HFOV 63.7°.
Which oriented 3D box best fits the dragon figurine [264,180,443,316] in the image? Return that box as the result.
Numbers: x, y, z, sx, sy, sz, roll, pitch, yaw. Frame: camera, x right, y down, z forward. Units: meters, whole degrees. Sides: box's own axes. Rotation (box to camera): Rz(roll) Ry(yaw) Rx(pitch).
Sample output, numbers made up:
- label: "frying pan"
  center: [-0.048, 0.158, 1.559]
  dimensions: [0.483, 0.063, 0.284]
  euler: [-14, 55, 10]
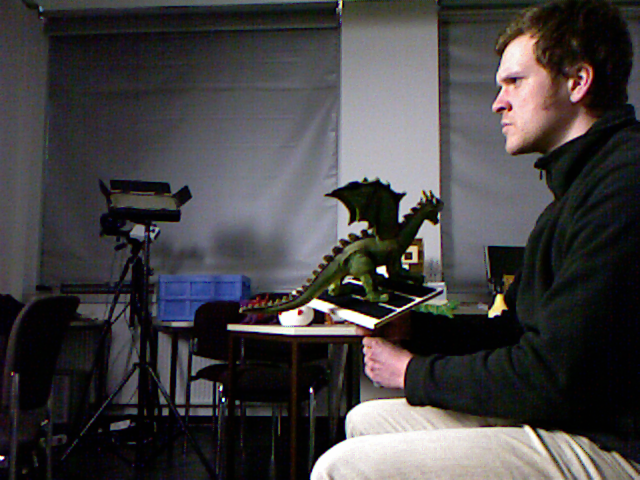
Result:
- label: "dragon figurine"
  center: [0.078, -0.002, 1.000]
  dimensions: [0.413, 0.239, 0.124]
  euler: [-14, 21, -23]
